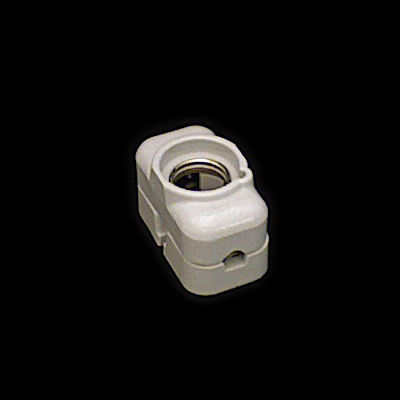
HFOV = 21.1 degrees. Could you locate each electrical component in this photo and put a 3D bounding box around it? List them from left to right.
[{"bbox_3d":[0.000,0.000,0.638,0.054,0.060,0.094,-18,46,-18],"label":"electrical component"}]
